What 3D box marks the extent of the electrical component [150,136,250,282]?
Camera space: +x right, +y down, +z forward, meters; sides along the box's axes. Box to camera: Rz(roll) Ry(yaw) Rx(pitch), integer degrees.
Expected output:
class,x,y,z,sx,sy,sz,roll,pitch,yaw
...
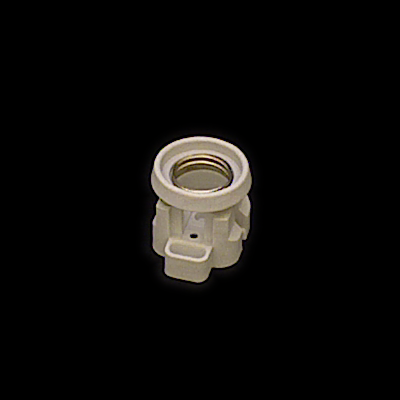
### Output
class,x,y,z,sx,sy,sz,roll,pitch,yaw
electrical component,0.000,0.000,0.633,0.057,0.057,0.078,11,43,11
